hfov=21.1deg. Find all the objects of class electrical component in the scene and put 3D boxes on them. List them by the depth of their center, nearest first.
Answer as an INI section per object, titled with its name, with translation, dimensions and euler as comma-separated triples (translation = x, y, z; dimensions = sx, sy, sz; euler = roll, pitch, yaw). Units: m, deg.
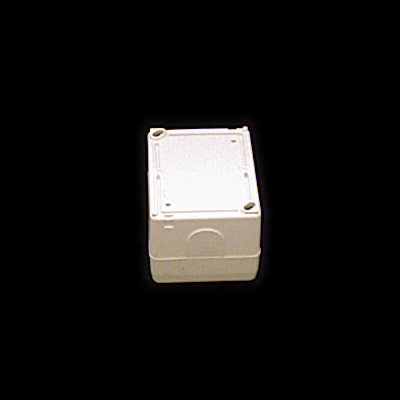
[electrical component]
translation = 0.000, 0.000, 0.633
dimensions = 0.062, 0.061, 0.095
euler = -2, 41, -3
